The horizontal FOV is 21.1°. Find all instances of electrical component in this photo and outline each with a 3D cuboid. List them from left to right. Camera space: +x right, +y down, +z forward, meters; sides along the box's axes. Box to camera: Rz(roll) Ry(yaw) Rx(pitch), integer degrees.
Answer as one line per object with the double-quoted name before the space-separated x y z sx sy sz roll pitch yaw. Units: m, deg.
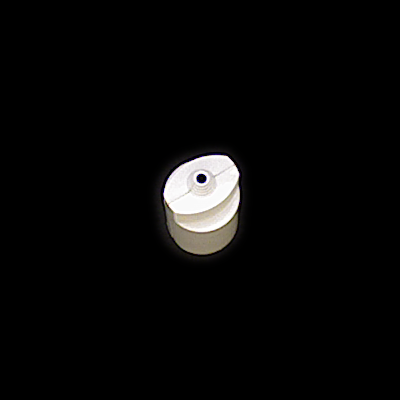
"electrical component" 0.000 0.000 0.616 0.043 0.043 0.080 0 -17 0
